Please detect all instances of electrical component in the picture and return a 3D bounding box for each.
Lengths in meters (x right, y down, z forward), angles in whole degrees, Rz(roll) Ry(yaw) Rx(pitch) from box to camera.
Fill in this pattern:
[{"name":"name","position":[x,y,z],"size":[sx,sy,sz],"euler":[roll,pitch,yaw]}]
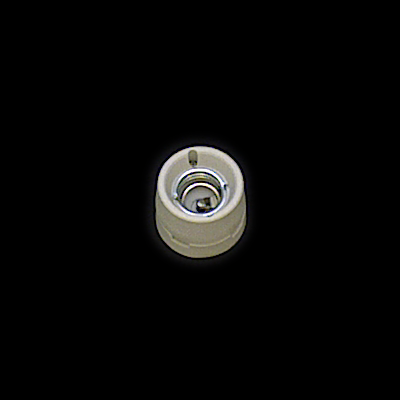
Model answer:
[{"name":"electrical component","position":[0.000,0.000,0.632],"size":[0.055,0.056,0.047],"euler":[0,-26,0]}]
